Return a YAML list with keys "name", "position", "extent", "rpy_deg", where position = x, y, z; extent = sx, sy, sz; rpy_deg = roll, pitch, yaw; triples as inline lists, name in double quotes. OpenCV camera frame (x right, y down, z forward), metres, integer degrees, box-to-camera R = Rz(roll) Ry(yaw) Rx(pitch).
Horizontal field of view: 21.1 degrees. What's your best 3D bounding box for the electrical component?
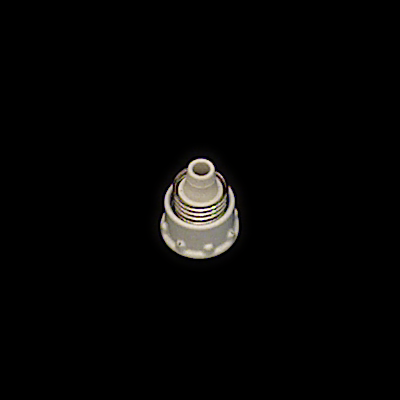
- name: "electrical component"
  position: [0.000, 0.000, 0.636]
  extent: [0.048, 0.048, 0.062]
  rpy_deg: [0, -37, -2]
